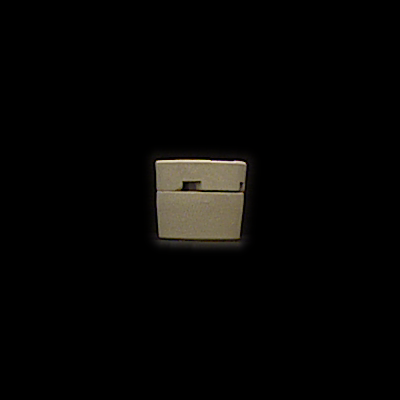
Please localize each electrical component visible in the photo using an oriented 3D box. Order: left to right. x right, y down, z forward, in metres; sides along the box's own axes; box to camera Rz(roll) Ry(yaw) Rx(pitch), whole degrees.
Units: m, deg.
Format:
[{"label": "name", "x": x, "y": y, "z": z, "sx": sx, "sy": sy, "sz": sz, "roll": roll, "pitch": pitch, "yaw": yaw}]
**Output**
[{"label": "electrical component", "x": 0.000, "y": 0.000, "z": 0.650, "sx": 0.055, "sy": 0.047, "sz": 0.055, "roll": 2, "pitch": 1, "yaw": 0}]
